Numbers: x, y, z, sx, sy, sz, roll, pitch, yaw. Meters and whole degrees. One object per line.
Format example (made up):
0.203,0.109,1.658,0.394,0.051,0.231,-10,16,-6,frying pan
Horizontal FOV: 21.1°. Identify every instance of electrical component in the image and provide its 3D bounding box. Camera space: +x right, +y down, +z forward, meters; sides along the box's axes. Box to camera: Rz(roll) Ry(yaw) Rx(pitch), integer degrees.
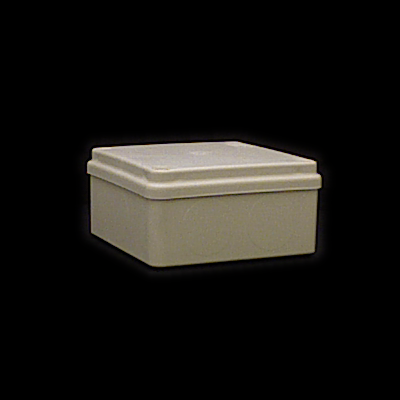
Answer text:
0.000,0.000,0.643,0.109,0.056,0.107,-4,12,-25,electrical component
